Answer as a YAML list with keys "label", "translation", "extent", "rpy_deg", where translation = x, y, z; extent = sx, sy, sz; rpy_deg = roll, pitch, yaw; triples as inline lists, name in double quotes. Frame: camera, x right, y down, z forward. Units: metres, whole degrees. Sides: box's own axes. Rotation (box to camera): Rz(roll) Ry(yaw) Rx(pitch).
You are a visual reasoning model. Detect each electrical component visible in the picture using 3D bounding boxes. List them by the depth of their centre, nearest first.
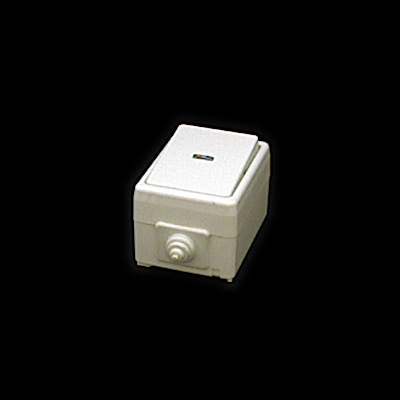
- label: "electrical component"
  translation: [0.000, 0.000, 0.632]
  extent: [0.061, 0.061, 0.095]
  rpy_deg: [10, 32, 14]
